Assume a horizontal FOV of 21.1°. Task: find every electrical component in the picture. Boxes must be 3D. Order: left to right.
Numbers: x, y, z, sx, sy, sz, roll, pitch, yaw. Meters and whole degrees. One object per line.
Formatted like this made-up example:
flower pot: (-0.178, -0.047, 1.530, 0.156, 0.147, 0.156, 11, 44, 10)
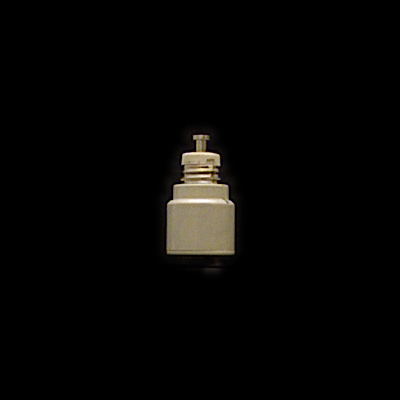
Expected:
electrical component: (0.000, 0.000, 0.649, 0.040, 0.078, 0.040, 0, 1, 0)
